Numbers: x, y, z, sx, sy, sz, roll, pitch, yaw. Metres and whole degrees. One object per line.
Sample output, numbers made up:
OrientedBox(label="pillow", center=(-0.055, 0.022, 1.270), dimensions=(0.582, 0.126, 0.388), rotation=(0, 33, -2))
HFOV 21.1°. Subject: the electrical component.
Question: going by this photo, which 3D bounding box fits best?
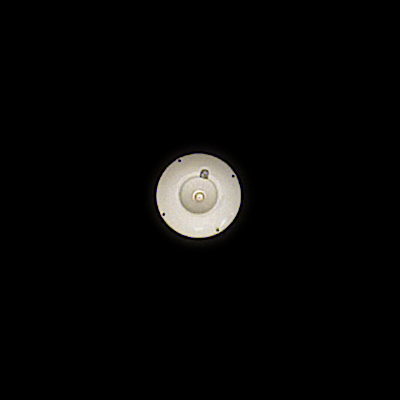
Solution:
OrientedBox(label="electrical component", center=(0.000, 0.000, 0.634), dimensions=(0.048, 0.048, 0.062), rotation=(0, -6, 1))
